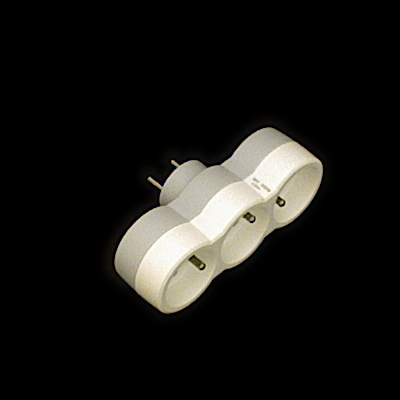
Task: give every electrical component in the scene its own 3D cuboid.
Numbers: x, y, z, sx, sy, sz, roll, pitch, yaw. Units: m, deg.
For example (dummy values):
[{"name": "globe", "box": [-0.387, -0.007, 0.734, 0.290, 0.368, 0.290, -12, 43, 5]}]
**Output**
[{"name": "electrical component", "box": [0.000, 0.000, 0.641, 0.139, 0.052, 0.073, -37, 60, -25]}]
